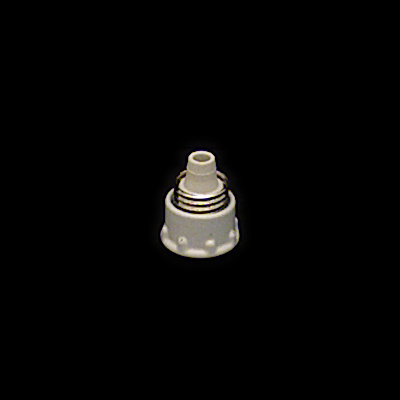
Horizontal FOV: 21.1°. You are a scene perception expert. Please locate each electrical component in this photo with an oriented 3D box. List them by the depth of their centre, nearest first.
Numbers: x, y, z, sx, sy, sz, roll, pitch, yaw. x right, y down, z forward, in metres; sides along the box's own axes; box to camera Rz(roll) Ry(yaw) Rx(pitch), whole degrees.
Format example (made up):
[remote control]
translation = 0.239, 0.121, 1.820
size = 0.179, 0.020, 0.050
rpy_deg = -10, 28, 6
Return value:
[electrical component]
translation = 0.000, 0.000, 0.640
size = 0.048, 0.063, 0.047
rpy_deg = 1, 33, 0
